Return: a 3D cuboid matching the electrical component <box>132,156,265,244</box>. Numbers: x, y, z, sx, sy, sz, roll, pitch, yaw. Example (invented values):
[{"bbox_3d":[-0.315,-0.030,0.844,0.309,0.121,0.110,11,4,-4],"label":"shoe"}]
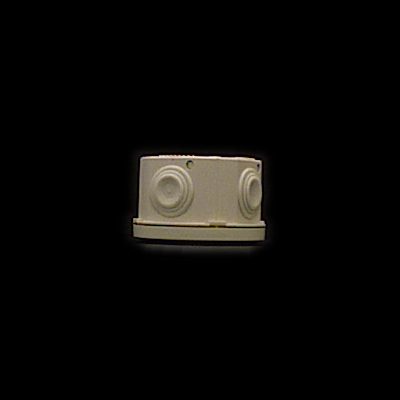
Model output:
[{"bbox_3d":[0.000,0.000,0.649,0.080,0.051,0.080,2,1,0],"label":"electrical component"}]
